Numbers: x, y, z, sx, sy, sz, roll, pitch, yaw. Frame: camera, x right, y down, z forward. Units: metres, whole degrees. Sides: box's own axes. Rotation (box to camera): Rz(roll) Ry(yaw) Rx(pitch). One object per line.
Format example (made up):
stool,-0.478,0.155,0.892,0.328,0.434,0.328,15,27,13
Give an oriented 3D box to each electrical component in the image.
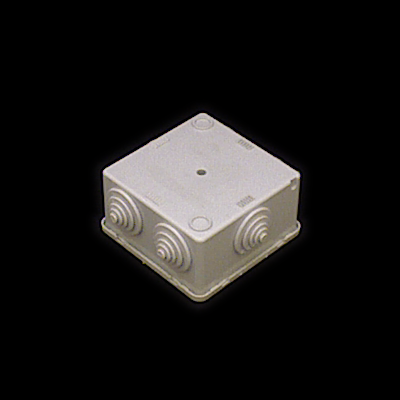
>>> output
electrical component,0.000,0.000,0.634,0.099,0.049,0.099,-33,52,-31
